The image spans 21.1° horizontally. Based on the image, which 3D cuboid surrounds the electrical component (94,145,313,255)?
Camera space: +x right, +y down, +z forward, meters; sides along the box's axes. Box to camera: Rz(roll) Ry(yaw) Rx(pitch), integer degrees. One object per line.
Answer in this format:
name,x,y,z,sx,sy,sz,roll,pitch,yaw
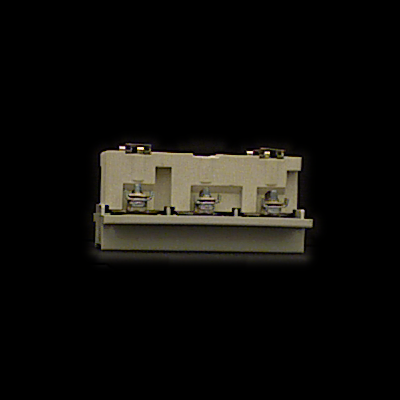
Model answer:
electrical component,0.000,0.000,0.654,0.122,0.063,0.078,1,1,-11
